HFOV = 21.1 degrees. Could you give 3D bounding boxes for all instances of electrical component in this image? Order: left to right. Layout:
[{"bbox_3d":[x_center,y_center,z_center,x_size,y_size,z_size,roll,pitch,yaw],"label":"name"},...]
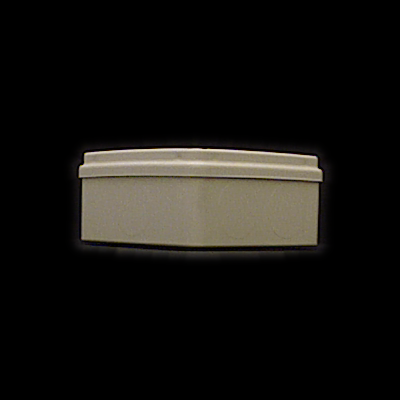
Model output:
[{"bbox_3d":[0.000,0.000,0.648,0.109,0.056,0.108,1,0,-44],"label":"electrical component"}]
